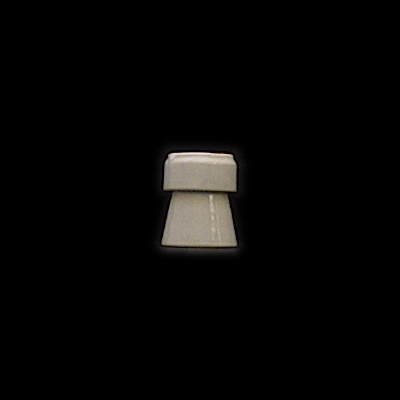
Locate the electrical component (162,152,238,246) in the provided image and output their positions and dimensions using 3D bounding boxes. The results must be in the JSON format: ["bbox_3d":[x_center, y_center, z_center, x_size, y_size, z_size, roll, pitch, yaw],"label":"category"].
[{"bbox_3d":[0.000,0.000,0.650,0.045,0.055,0.045,2,1,0],"label":"electrical component"}]
